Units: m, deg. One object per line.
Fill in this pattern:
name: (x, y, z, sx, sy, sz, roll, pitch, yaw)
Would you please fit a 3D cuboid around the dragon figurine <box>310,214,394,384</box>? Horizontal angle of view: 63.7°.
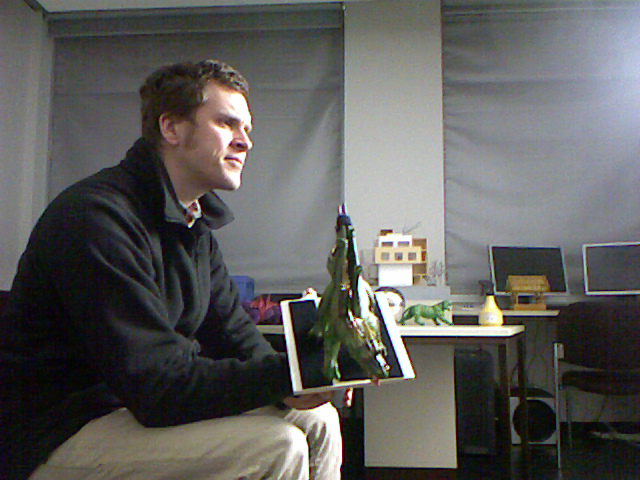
dragon figurine: (0.044, 0.062, 0.844, 0.123, 0.237, 0.422, -5, 45, -8)
